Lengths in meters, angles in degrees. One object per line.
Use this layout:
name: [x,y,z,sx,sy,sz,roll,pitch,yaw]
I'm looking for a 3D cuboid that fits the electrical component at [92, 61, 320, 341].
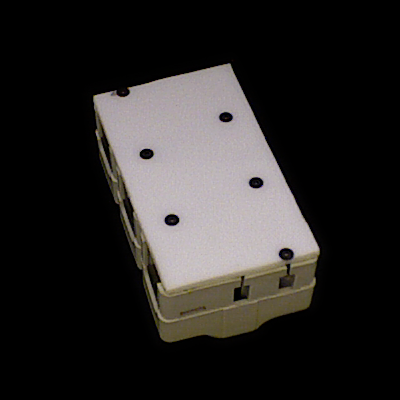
electrical component: [0.000,0.000,0.632,0.089,0.148,0.062,-14,-36,-11]
